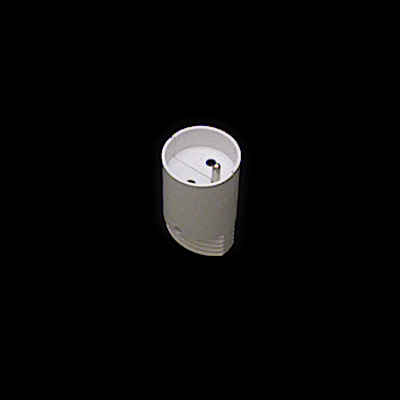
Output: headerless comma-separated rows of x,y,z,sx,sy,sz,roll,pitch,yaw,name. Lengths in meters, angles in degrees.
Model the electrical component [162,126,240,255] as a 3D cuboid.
0.000,0.000,0.620,0.043,0.043,0.081,0,-37,-1,electrical component
